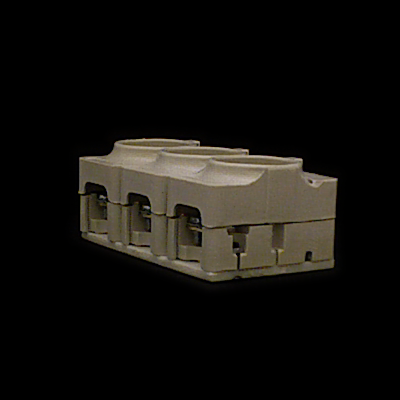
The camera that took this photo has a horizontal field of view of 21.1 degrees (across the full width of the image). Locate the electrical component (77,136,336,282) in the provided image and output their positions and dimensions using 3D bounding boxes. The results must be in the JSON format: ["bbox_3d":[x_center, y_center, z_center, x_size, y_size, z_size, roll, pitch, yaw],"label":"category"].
[{"bbox_3d":[0.000,0.000,0.652,0.089,0.062,0.148,-5,12,-35],"label":"electrical component"}]
